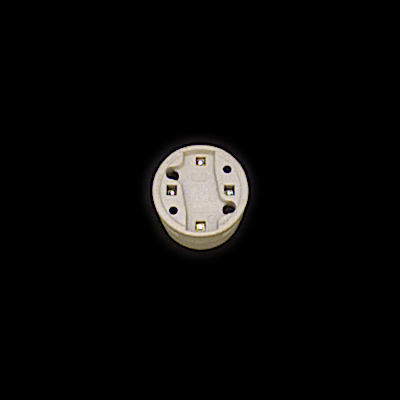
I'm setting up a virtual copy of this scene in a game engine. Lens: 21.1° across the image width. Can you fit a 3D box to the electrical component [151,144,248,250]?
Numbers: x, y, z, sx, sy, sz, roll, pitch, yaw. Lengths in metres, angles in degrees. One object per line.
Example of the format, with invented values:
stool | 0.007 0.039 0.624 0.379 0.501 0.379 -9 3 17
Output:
electrical component | 0.000 0.000 0.634 0.055 0.056 0.047 0 -17 0
